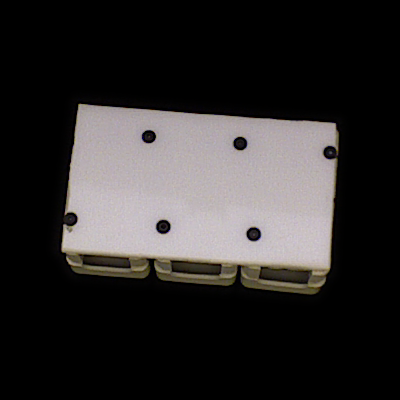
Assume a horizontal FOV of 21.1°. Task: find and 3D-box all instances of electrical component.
[{"bbox_3d":[0.000,0.000,0.631,0.150,0.089,0.062,5,-17,1],"label":"electrical component"}]
